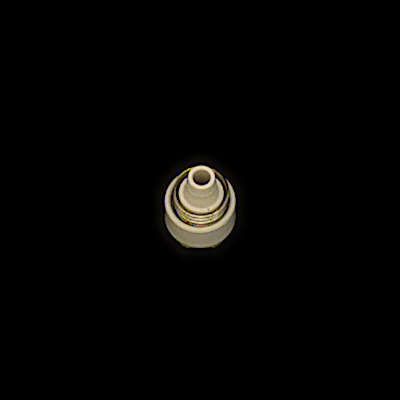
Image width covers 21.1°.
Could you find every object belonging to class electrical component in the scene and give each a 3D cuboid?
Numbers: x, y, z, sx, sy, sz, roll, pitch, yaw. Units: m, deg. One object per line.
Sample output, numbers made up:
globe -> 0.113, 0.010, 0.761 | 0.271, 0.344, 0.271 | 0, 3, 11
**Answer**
electrical component -> 0.000, 0.000, 0.634 | 0.043, 0.043, 0.062 | 0, -26, -1
